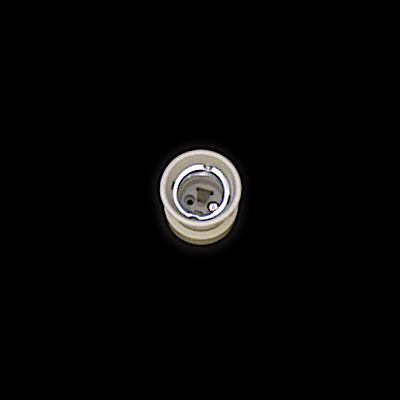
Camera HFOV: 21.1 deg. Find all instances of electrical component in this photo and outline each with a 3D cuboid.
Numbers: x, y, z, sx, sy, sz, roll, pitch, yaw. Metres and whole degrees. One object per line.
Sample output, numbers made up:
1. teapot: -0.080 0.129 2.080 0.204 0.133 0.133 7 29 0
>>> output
1. electrical component: 0.000 0.000 0.627 0.045 0.045 0.055 0 -16 1
